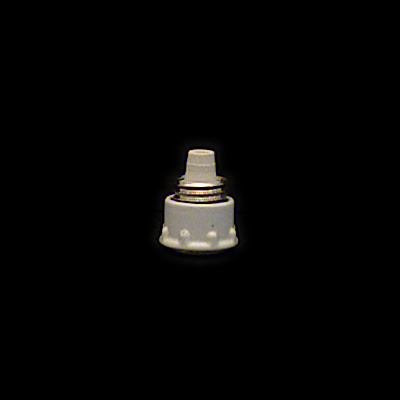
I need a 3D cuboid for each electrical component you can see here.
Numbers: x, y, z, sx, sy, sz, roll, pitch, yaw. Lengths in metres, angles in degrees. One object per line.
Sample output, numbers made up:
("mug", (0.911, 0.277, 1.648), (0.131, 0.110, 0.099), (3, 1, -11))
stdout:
("electrical component", (0.000, 0.000, 0.650), (0.048, 0.062, 0.048), (1, 13, 0))
